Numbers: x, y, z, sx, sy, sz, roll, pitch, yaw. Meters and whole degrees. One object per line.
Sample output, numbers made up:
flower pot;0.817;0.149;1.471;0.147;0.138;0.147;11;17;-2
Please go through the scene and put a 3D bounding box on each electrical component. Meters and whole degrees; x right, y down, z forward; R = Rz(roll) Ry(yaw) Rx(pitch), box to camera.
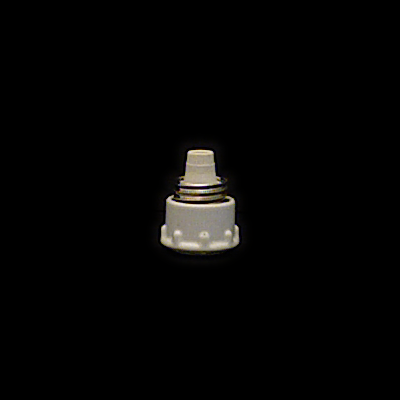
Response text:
electrical component;0.000;0.000;0.649;0.048;0.062;0.048;0;13;0
